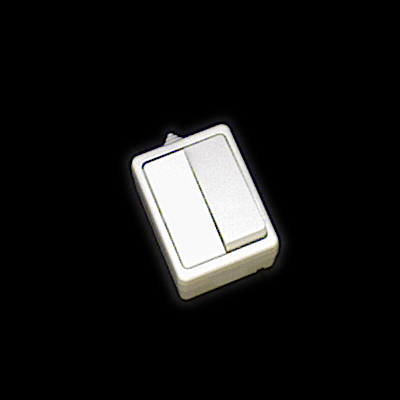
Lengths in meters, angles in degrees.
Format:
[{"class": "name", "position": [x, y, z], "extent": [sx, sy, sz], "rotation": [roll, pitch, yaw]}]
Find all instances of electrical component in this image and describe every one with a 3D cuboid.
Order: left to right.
[{"class": "electrical component", "position": [0.000, 0.000, 0.627], "extent": [0.062, 0.096, 0.060], "rotation": [-21, -16, -6]}]
